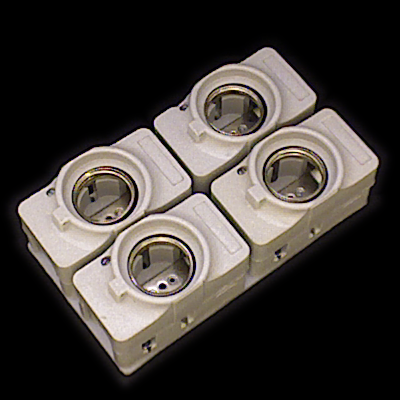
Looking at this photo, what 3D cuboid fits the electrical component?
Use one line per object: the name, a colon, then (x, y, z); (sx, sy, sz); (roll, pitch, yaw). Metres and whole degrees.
electrical component: (0.000, 0.000, 0.625); (0.187, 0.105, 0.060); (-34, -22, -16)
